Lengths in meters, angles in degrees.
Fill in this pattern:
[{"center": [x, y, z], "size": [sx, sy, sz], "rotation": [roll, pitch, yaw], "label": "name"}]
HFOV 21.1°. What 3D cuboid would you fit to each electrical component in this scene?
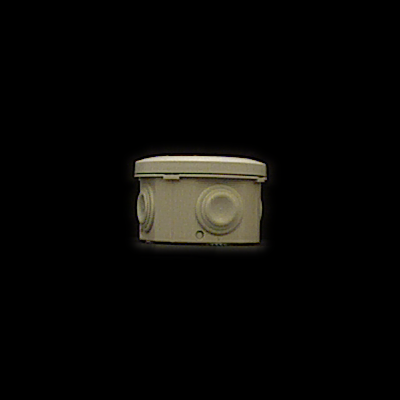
[{"center": [0.000, 0.000, 0.652], "size": [0.080, 0.051, 0.080], "rotation": [1, 0, 0], "label": "electrical component"}]
